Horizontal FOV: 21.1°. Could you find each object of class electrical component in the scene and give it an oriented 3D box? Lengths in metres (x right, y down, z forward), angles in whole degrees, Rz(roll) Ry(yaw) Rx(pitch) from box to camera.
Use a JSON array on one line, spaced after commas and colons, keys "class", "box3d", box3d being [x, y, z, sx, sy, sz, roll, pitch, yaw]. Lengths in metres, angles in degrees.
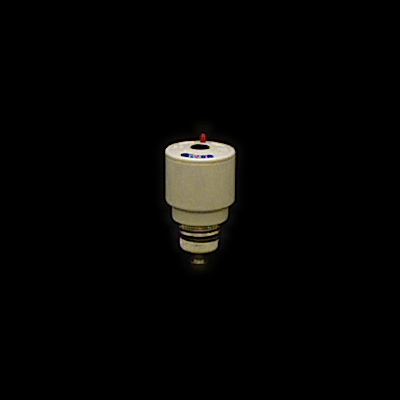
[{"class": "electrical component", "box3d": [0.000, 0.000, 0.638, 0.040, 0.079, 0.039, 1, 21, 0]}]
